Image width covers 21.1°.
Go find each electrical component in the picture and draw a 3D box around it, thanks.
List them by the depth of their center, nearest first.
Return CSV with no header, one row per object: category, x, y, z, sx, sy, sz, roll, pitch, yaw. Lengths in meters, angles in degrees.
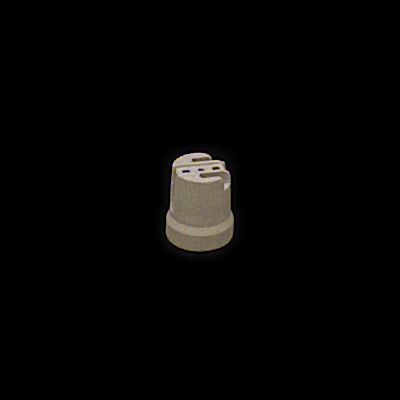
electrical component,0.000,0.000,0.638,0.040,0.046,0.040,1,33,0
